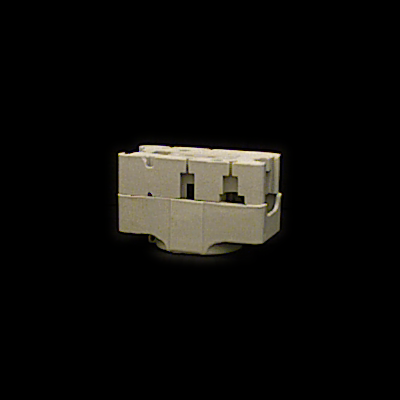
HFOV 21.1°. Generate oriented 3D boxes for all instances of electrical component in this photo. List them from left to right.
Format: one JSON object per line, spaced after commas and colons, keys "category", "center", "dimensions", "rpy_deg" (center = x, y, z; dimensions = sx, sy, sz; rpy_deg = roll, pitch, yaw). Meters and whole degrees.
{"category": "electrical component", "center": [0.000, 0.000, 0.650], "dimensions": [0.089, 0.056, 0.050], "rpy_deg": [4, 13, 17]}
